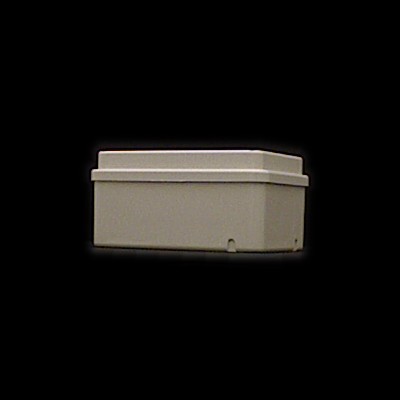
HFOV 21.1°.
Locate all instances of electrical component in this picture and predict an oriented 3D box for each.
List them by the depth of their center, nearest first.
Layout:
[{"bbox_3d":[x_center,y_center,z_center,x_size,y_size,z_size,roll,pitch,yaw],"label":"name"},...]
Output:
[{"bbox_3d":[0.000,0.000,0.647,0.113,0.057,0.078,2,0,25],"label":"electrical component"}]
